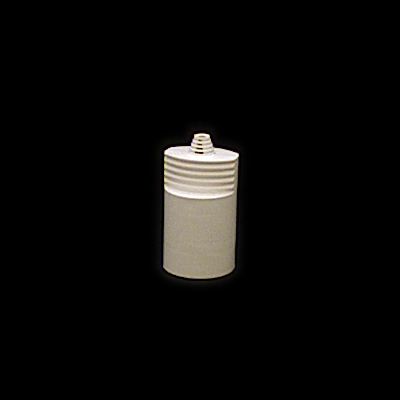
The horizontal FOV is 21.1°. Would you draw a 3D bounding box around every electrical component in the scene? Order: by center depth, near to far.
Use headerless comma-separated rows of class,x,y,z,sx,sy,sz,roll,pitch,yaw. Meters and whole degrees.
electrical component,0.000,0.000,0.635,0.043,0.082,0.042,1,21,0
